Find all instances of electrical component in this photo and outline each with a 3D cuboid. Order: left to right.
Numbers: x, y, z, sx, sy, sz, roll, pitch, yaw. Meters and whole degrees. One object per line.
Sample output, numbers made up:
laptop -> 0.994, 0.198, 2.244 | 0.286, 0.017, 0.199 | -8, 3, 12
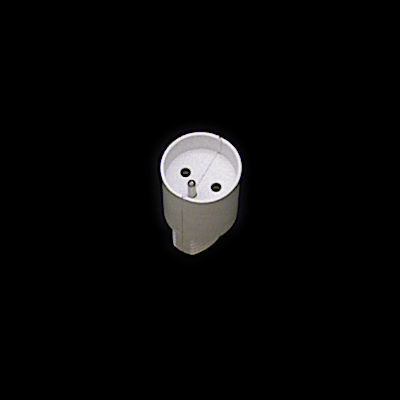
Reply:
electrical component -> 0.000, 0.000, 0.615 | 0.043, 0.043, 0.081 | 0, -27, 1
